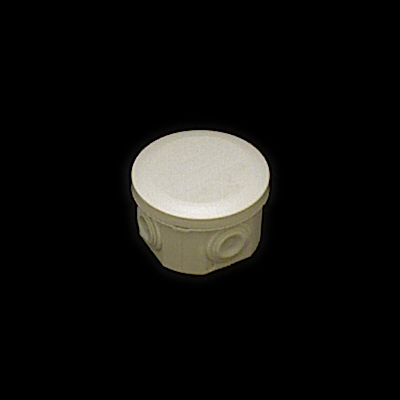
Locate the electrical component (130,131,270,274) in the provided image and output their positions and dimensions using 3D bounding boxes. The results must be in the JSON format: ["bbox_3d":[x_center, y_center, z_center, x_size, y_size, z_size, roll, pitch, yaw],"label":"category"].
[{"bbox_3d":[0.000,0.000,0.632,0.080,0.051,0.080,0,42,0],"label":"electrical component"}]
